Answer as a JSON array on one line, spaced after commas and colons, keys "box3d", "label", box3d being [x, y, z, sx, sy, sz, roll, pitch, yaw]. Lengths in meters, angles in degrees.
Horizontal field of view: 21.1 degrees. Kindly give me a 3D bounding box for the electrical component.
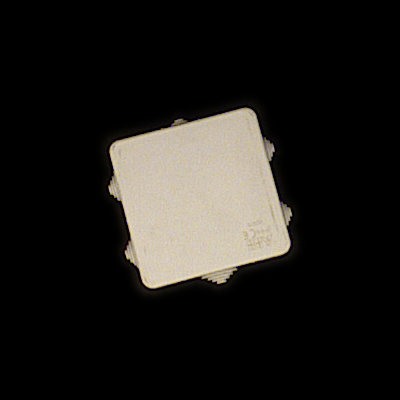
[{"box3d": [0.000, 0.000, 0.642, 0.100, 0.100, 0.048, -14, -6, -2], "label": "electrical component"}]
